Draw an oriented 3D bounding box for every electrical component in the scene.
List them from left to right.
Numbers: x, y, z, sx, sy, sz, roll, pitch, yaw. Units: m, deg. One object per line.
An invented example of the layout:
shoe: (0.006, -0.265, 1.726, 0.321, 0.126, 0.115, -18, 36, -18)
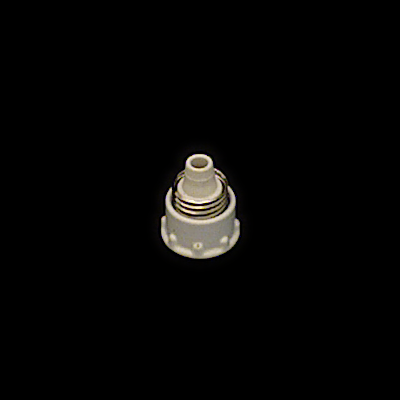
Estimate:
electrical component: (0.000, 0.000, 0.636, 0.048, 0.062, 0.047, 0, 43, 1)
